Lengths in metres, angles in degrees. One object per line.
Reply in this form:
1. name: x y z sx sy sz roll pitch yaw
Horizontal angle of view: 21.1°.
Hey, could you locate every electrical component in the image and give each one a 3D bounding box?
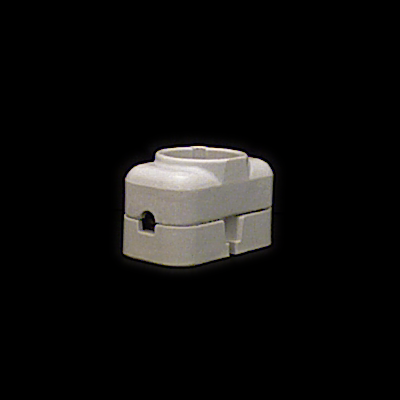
1. electrical component: 0.000 0.000 0.652 0.053 0.060 0.096 11 15 38
